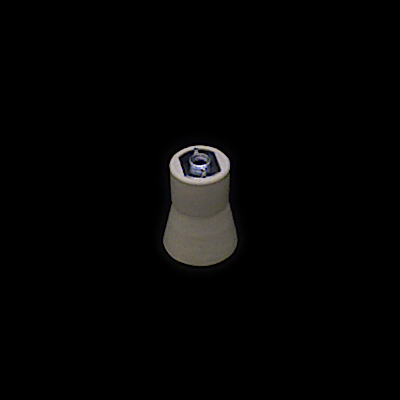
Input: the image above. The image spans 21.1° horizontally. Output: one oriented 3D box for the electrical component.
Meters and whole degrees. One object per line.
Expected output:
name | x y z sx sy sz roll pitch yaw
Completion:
electrical component | 0.000 0.000 0.629 0.044 0.066 0.044 0 42 1
